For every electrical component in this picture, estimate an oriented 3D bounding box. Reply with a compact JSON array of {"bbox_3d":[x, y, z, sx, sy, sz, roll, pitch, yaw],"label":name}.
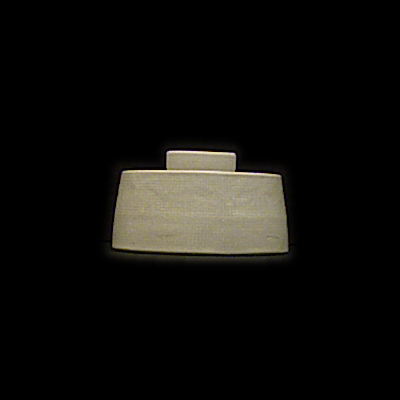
[{"bbox_3d":[0.000,0.000,0.657,0.108,0.060,0.108,1,1,1],"label":"electrical component"}]
